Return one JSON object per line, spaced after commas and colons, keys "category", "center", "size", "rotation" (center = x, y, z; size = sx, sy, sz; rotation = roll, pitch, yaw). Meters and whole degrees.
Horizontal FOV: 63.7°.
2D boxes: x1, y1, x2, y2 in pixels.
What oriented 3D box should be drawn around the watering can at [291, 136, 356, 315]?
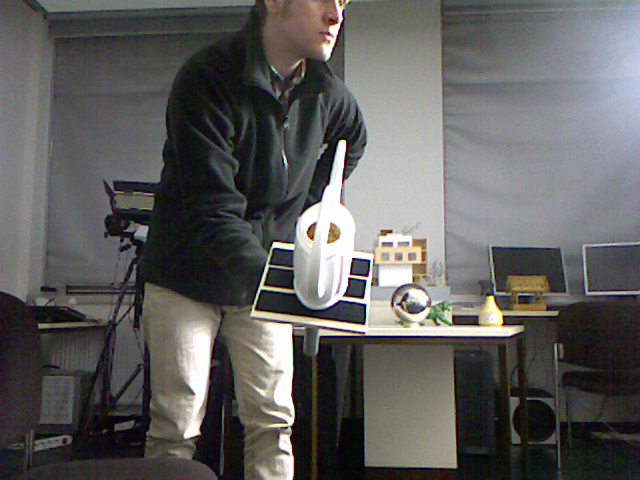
{"category": "watering can", "center": [0.015, -0.019, 0.926], "size": [0.104, 0.219, 0.357], "rotation": [10, 43, 4]}
